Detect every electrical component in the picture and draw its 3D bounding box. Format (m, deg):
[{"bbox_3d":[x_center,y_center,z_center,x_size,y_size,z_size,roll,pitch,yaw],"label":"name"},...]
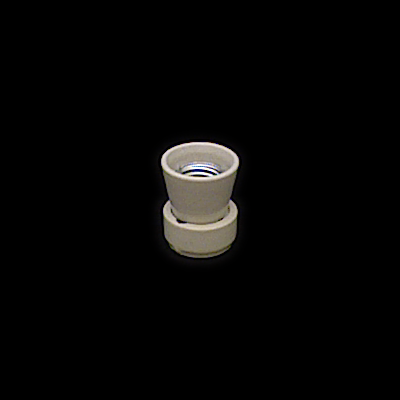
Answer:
[{"bbox_3d":[0.000,0.000,0.635,0.045,0.056,0.044,1,31,0],"label":"electrical component"}]
